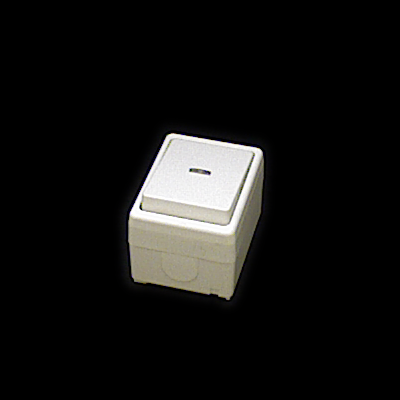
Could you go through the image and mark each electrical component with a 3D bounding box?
[{"bbox_3d":[0.000,0.000,0.632,0.061,0.061,0.095,10,43,11],"label":"electrical component"}]
